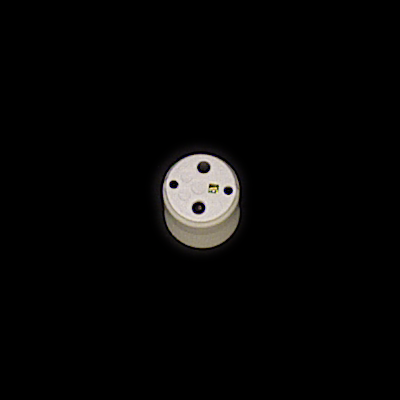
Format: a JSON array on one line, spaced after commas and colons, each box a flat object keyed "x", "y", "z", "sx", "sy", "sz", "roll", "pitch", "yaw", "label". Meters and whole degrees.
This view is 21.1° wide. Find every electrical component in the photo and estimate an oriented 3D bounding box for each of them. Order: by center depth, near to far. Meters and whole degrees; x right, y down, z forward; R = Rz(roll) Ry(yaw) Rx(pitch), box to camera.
[{"x": 0.000, "y": 0.000, "z": 0.628, "sx": 0.045, "sy": 0.045, "sz": 0.055, "roll": 0, "pitch": -16, "yaw": 1, "label": "electrical component"}]
